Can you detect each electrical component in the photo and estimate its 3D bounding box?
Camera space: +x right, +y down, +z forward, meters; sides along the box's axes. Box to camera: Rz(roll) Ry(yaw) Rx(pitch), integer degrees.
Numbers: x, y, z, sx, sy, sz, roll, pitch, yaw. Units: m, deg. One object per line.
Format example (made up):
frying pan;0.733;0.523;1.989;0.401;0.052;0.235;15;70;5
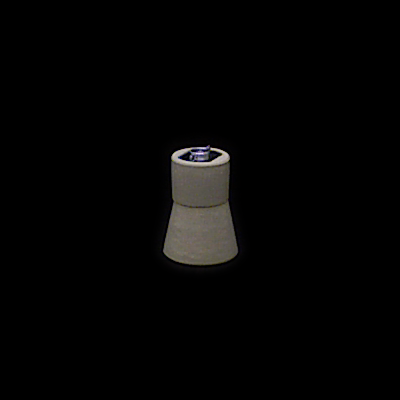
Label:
electrical component;0.000;0.000;0.639;0.044;0.066;0.044;0;21;0
